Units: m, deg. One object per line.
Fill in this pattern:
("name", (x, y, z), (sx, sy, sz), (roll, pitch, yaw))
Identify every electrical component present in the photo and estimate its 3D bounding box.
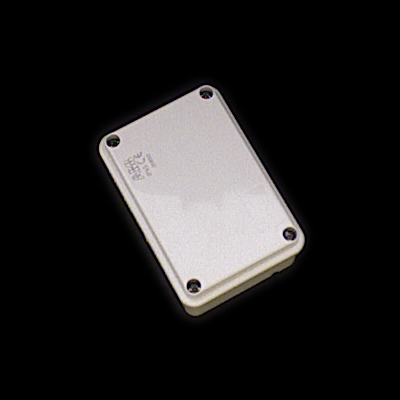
("electrical component", (0.000, 0.000, 0.626), (0.078, 0.113, 0.057), (-28, -15, -8))
